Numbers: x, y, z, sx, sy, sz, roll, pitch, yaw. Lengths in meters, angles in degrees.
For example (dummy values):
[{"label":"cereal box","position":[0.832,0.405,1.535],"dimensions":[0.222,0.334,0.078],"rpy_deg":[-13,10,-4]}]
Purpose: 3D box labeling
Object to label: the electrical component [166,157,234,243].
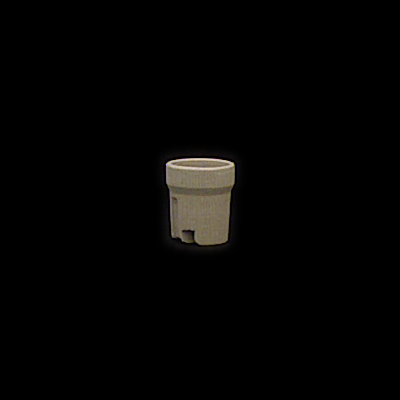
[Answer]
[{"label":"electrical component","position":[0.000,0.000,0.643],"dimensions":[0.040,0.046,0.040],"rpy_deg":[1,11,0]}]
